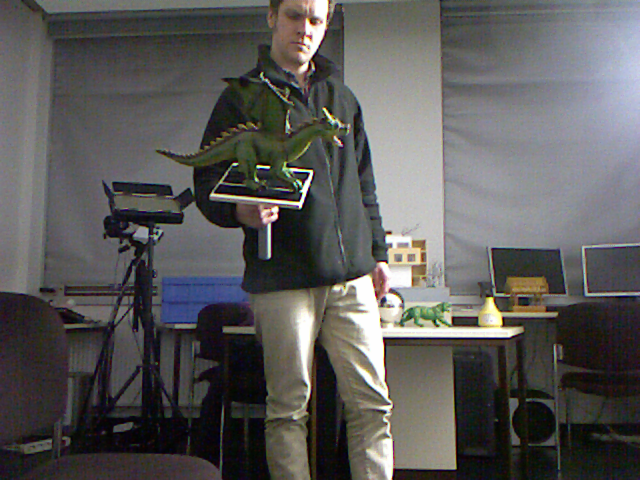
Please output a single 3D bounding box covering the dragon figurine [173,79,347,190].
[{"bbox_3d":[-0.147,-0.245,1.157,0.410,0.237,0.125,8,34,5],"label":"dragon figurine"}]
